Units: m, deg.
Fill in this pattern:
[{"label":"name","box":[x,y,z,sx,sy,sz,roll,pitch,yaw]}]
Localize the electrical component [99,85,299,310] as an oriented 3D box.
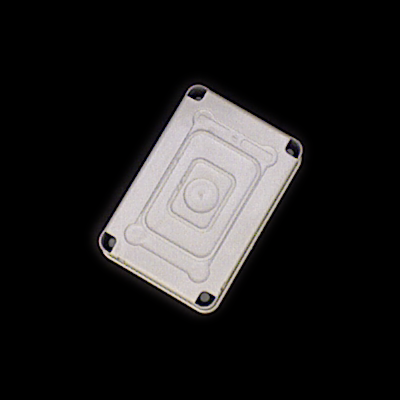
[{"label":"electrical component","box":[0.000,0.000,0.628,0.078,0.113,0.057,30,-6,4]}]
